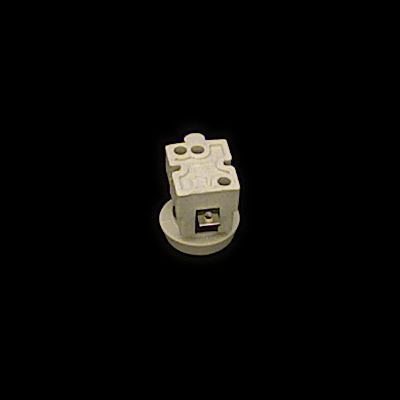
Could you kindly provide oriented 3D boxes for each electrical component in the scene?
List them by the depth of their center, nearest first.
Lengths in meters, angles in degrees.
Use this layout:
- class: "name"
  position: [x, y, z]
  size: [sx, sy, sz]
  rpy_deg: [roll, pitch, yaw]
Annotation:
- class: "electrical component"
  position: [0.000, 0.000, 0.641]
  size: [0.048, 0.056, 0.065]
  rpy_deg: [-6, 44, -9]
